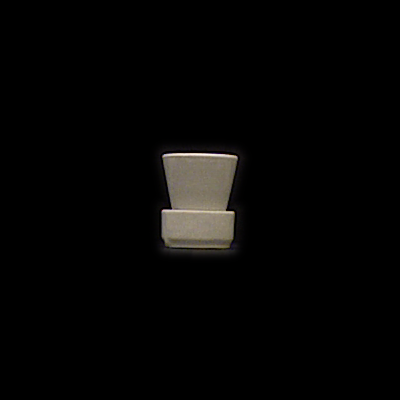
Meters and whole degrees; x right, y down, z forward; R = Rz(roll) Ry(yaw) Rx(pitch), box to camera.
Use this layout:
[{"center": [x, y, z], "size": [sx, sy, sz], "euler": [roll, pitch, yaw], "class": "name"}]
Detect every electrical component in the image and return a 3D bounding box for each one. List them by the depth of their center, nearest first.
[{"center": [0.000, 0.000, 0.650], "size": [0.045, 0.055, 0.044], "euler": [1, 2, 0], "class": "electrical component"}]
